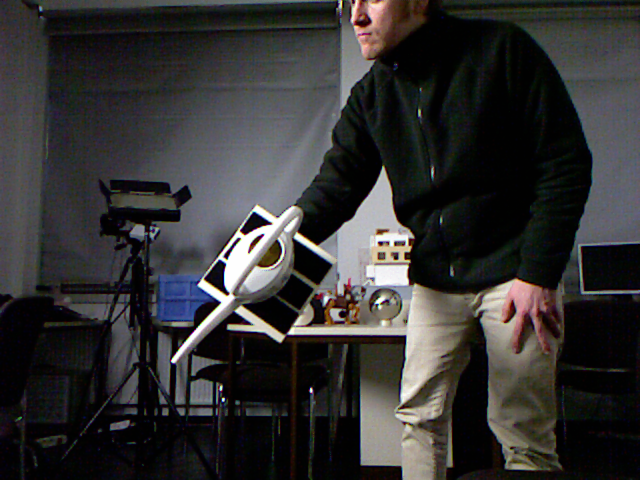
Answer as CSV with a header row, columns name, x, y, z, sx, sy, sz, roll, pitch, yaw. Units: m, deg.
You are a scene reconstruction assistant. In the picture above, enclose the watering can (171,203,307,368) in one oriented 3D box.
name,x,y,z,sx,sy,sz,roll,pitch,yaw
watering can,-0.134,0.078,0.946,0.104,0.350,0.222,37,-7,8
